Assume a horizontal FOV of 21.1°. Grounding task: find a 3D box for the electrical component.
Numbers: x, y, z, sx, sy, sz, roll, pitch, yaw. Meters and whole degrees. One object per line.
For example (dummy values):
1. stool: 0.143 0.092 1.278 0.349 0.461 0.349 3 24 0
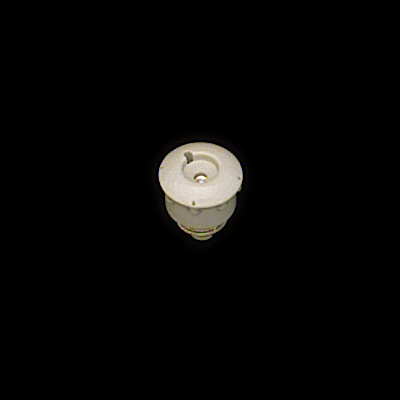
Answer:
1. electrical component: 0.000 0.000 0.634 0.048 0.048 0.062 0 -37 0
